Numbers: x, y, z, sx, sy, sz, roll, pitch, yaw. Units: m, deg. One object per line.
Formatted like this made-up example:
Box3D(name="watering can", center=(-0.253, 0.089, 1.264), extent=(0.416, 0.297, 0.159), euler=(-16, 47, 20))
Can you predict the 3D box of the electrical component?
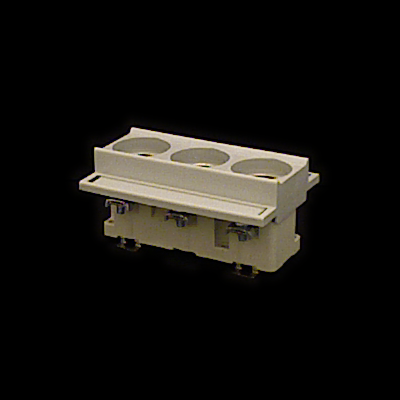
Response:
Box3D(name="electrical component", center=(0.000, 0.000, 0.650), extent=(0.120, 0.064, 0.078), euler=(12, 26, 26))
